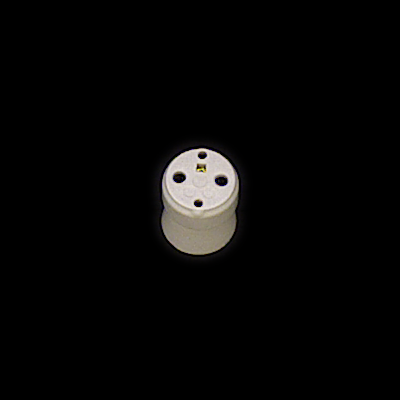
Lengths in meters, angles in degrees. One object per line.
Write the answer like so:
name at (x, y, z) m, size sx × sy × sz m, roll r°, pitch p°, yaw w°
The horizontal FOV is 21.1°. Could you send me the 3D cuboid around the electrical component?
electrical component at (0.000, 0.000, 0.629) m, size 0.045 × 0.045 × 0.055 m, roll 0°, pitch -27°, yaw -1°
